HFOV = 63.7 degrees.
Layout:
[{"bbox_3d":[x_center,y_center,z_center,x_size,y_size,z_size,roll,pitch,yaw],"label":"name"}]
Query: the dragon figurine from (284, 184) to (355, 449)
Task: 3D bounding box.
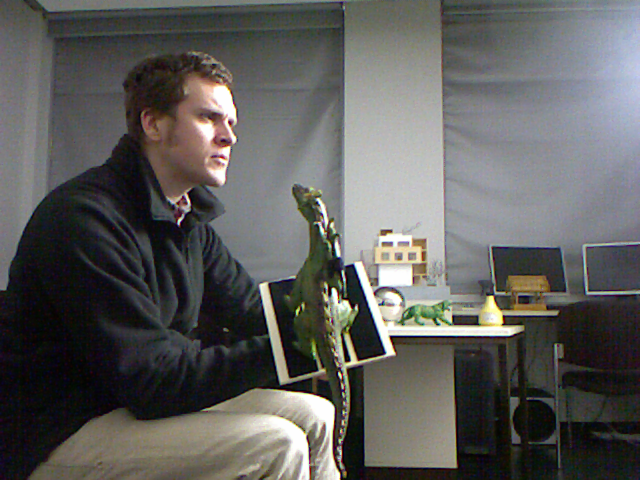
[{"bbox_3d":[0.009,0.090,0.809,0.123,0.421,0.238,-10,-31,-7],"label":"dragon figurine"}]
